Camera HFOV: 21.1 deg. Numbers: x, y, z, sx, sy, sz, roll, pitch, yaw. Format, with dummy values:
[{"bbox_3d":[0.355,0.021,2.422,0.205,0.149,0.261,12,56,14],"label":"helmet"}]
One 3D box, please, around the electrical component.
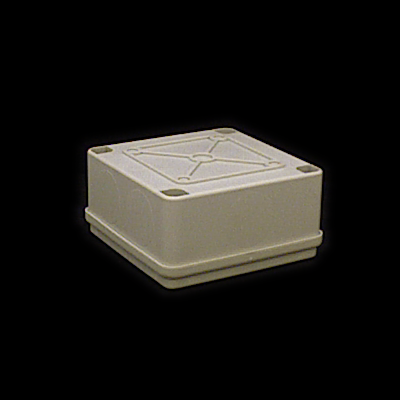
[{"bbox_3d":[0.000,0.000,0.642,0.109,0.057,0.107,-10,23,-30],"label":"electrical component"}]
